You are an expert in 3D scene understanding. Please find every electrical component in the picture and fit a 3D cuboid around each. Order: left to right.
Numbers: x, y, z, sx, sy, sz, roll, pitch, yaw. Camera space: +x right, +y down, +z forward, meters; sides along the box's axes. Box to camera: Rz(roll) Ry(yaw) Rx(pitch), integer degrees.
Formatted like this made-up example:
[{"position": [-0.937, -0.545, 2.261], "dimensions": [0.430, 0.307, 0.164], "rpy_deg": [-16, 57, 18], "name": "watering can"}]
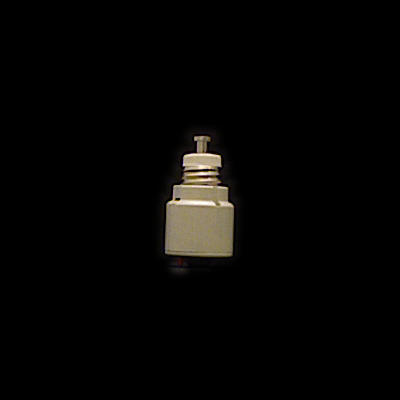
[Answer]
[{"position": [0.000, 0.000, 0.651], "dimensions": [0.040, 0.078, 0.040], "rpy_deg": [2, 2, 0], "name": "electrical component"}]
